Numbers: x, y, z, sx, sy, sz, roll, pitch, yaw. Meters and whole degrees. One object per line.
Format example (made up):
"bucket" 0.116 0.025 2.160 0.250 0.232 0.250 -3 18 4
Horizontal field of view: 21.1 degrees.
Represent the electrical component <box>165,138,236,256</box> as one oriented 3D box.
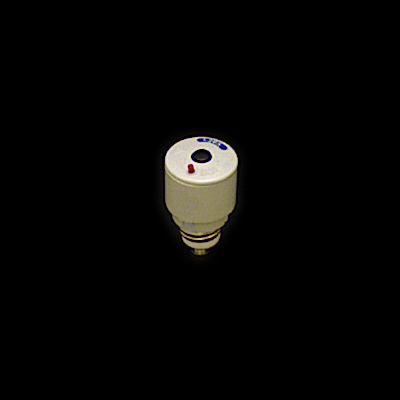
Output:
"electrical component" 0.000 0.000 0.623 0.040 0.079 0.039 0 42 0
